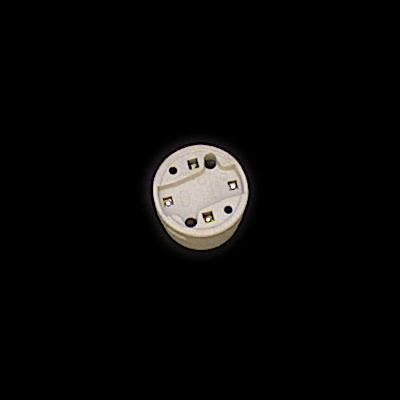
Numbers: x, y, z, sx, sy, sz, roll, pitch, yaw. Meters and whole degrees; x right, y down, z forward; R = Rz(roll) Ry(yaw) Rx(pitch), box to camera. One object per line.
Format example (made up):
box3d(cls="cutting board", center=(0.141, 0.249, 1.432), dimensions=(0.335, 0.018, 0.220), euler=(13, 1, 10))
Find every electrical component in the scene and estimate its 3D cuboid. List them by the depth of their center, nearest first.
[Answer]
box3d(cls="electrical component", center=(0.000, 0.000, 0.635), dimensions=(0.055, 0.056, 0.047), euler=(0, -17, 0))
